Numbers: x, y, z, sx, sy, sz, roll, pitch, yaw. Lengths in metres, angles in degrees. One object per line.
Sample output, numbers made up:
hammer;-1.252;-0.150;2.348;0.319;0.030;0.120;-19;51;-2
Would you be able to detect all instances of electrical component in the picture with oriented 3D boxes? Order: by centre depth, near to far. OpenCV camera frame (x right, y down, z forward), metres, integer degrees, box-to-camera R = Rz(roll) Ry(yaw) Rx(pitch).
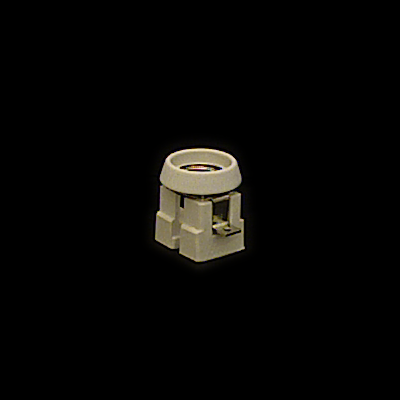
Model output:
electrical component;0.000;0.000;0.647;0.048;0.056;0.065;-19;29;-36
